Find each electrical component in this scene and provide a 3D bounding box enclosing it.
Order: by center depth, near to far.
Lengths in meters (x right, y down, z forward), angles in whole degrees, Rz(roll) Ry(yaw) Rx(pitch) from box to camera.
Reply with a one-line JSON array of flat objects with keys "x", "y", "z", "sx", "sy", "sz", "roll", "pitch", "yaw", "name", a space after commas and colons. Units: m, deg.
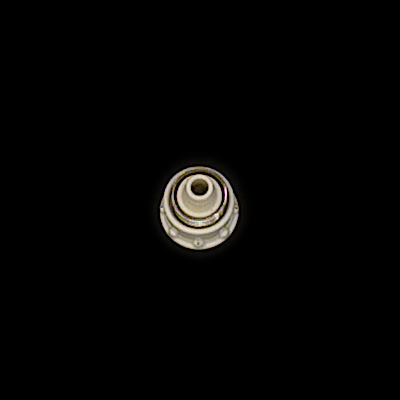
[{"x": 0.000, "y": 0.000, "z": 0.633, "sx": 0.048, "sy": 0.048, "sz": 0.061, "roll": 0, "pitch": -15, "yaw": 0, "name": "electrical component"}]
